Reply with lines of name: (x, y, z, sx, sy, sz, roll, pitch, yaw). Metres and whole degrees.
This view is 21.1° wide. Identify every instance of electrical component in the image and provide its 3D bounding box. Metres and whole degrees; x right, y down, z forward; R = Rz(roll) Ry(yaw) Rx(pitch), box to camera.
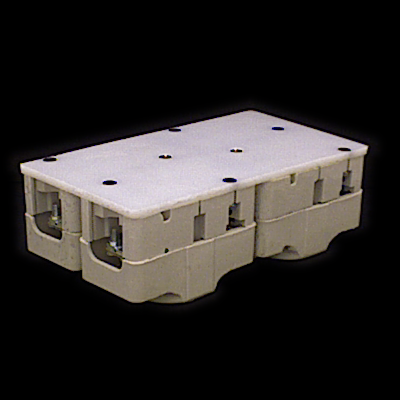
electrical component: (0.000, 0.000, 0.638, 0.186, 0.061, 0.104, -16, 27, -39)
